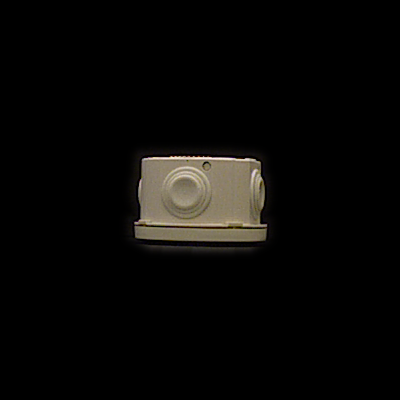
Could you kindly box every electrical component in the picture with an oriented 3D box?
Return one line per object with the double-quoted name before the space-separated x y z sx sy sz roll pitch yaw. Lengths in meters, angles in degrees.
"electrical component" 0.000 0.000 0.649 0.080 0.051 0.080 1 1 0
